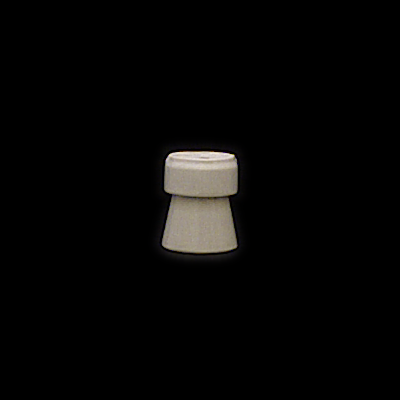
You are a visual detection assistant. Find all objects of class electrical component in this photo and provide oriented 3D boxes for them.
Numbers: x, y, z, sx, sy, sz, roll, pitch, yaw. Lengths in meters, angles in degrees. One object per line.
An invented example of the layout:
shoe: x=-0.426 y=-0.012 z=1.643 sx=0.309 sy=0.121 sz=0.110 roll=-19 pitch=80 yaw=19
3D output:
electrical component: x=0.000 y=0.000 z=0.646 sx=0.045 sy=0.055 sz=0.044 roll=2 pitch=11 yaw=0
